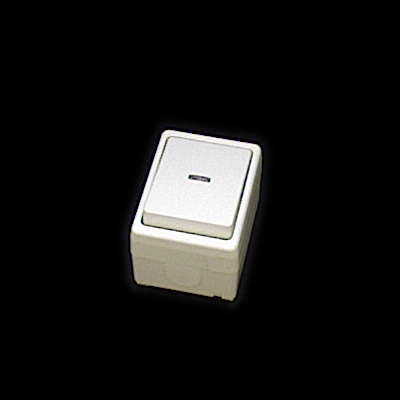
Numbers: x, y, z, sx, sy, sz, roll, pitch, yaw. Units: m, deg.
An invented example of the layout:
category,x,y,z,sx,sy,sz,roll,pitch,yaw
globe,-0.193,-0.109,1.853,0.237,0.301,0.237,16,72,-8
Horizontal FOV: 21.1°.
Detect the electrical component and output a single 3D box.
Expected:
category,x,y,z,sx,sy,sz,roll,pitch,yaw
electrical component,0.000,0.000,0.629,0.061,0.096,0.061,10,-37,7
